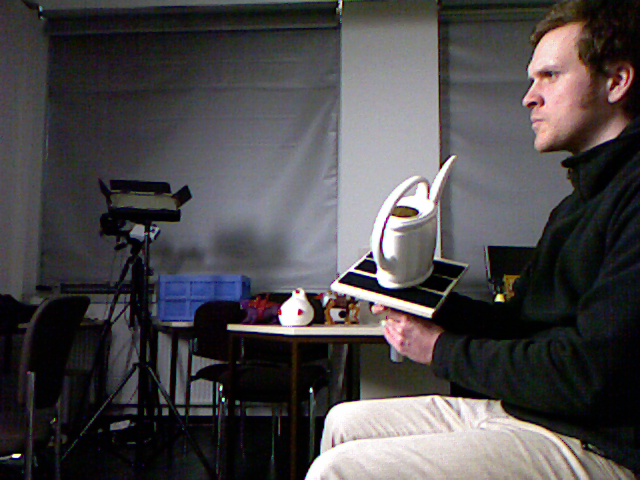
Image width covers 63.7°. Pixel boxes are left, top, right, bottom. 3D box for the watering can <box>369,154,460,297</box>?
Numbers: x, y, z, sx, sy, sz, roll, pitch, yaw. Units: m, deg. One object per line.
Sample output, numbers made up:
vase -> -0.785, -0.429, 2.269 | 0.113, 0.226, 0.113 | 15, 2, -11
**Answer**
watering can -> 0.193, -0.031, 1.003 | 0.105, 0.220, 0.354 | 19, 34, 31
